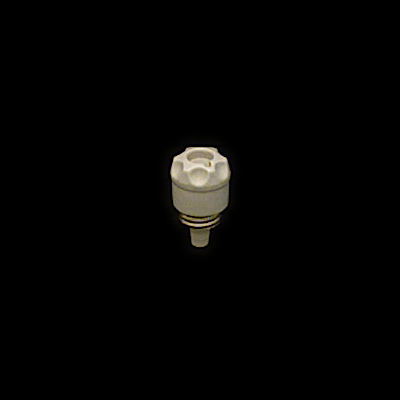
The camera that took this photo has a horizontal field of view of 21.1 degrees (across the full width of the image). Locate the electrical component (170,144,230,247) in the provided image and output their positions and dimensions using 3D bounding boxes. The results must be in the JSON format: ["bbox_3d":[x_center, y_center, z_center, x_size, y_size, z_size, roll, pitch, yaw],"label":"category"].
[{"bbox_3d":[0.000,0.000,0.639,0.035,0.062,0.035,1,33,0],"label":"electrical component"}]
